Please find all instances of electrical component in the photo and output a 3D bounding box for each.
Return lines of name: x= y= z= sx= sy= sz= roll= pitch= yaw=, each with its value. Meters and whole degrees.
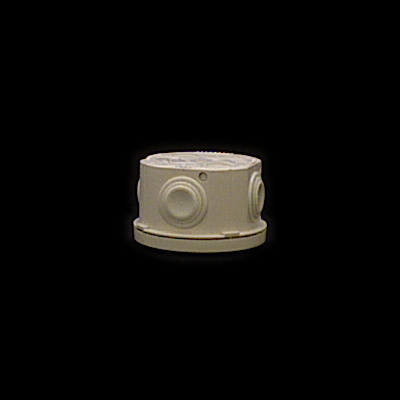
electrical component: x=0.000 y=0.000 z=0.644 sx=0.080 sy=0.051 sz=0.079 roll=1 pitch=11 yaw=0
